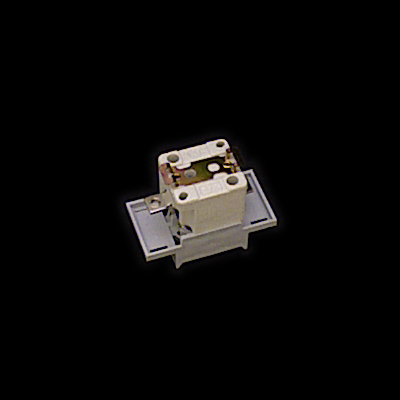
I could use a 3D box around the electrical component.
[{"bbox_3d":[0.000,0.000,0.628,0.081,0.042,0.064,-16,-36,-12],"label":"electrical component"}]
